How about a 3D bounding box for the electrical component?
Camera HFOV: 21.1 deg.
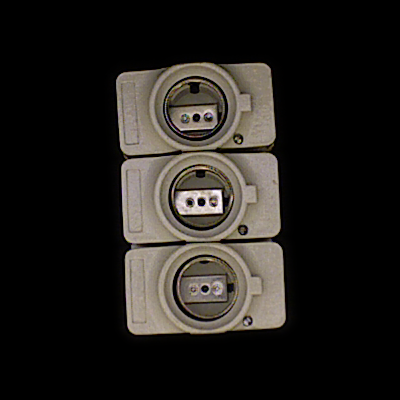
[{"bbox_3d":[0.000,0.000,0.632,0.089,0.150,0.061,-3,-6,-1],"label":"electrical component"}]
